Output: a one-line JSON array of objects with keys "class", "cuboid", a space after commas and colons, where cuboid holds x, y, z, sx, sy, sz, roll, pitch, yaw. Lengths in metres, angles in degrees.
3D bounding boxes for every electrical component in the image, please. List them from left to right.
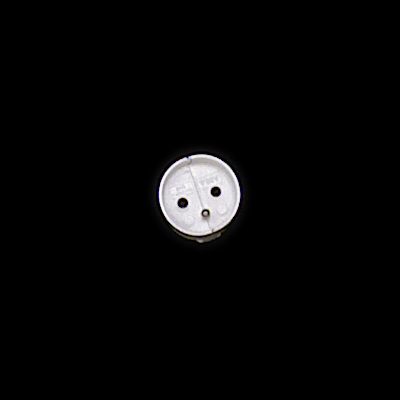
[{"class": "electrical component", "cuboid": [0.000, 0.000, 0.615, 0.043, 0.043, 0.080, 0, -5, 0]}]
